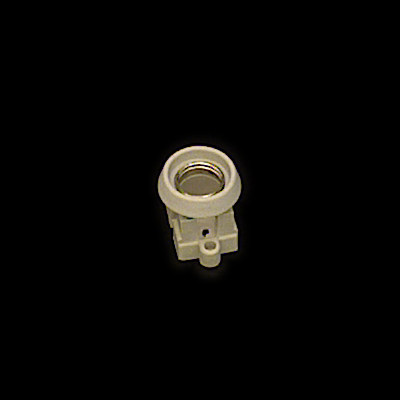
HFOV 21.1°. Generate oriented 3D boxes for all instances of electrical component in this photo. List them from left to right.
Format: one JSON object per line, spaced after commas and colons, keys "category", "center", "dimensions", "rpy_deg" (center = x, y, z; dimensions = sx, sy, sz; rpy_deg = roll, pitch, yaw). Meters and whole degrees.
{"category": "electrical component", "center": [0.000, 0.000, 0.638], "dimensions": [0.048, 0.066, 0.055], "rpy_deg": [-10, -36, -10]}
